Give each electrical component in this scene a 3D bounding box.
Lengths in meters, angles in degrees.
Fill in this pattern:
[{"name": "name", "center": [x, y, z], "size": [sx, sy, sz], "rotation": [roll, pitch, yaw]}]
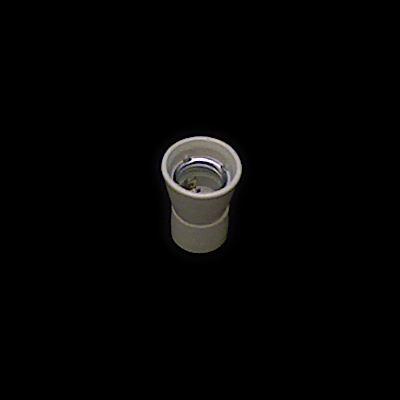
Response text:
[{"name": "electrical component", "center": [0.000, 0.000, 0.627], "size": [0.044, 0.044, 0.065], "rotation": [0, -38, -1]}]
